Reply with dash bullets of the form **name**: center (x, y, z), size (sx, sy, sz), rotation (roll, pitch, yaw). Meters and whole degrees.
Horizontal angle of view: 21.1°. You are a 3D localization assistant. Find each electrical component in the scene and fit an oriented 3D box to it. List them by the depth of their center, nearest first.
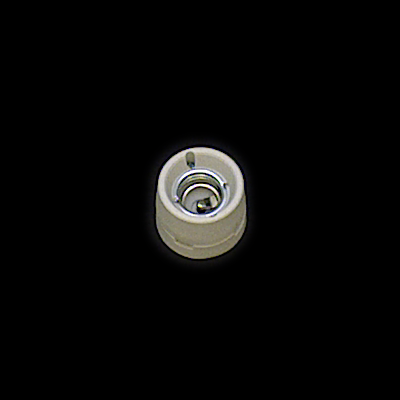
- **electrical component**: center (0.000, 0.000, 0.632), size (0.055, 0.056, 0.047), rotation (0, -26, 0)
